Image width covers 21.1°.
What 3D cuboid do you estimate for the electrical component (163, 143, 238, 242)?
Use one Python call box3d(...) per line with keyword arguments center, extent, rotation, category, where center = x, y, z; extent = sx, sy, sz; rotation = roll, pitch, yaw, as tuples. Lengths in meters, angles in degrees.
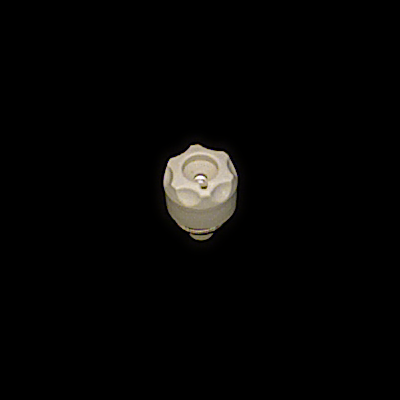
box3d(center=(0.000, 0.000, 0.636), extent=(0.043, 0.043, 0.062), rotation=(0, -38, 0), category="electrical component")
